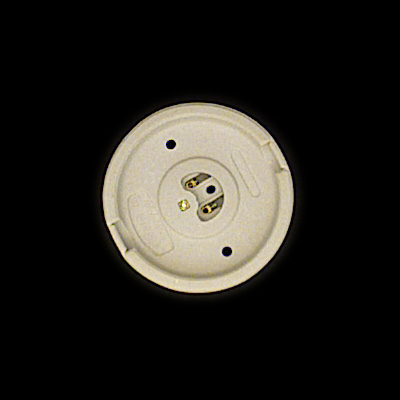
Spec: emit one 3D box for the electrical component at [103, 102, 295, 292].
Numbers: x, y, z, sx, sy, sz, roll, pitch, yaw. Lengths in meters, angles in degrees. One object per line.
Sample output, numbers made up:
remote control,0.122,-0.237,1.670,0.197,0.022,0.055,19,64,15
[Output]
electrical component,0.000,0.000,0.634,0.108,0.108,0.060,0,-6,0
